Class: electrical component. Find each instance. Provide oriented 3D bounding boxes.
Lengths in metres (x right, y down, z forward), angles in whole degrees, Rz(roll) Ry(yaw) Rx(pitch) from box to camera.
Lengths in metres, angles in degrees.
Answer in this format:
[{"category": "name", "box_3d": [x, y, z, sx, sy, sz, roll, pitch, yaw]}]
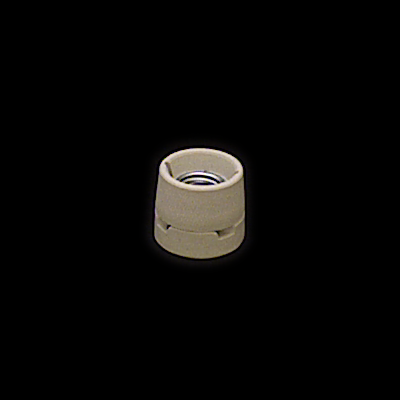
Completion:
[{"category": "electrical component", "box_3d": [0.000, 0.000, 0.637, 0.055, 0.047, 0.055, 1, 32, -1]}]
